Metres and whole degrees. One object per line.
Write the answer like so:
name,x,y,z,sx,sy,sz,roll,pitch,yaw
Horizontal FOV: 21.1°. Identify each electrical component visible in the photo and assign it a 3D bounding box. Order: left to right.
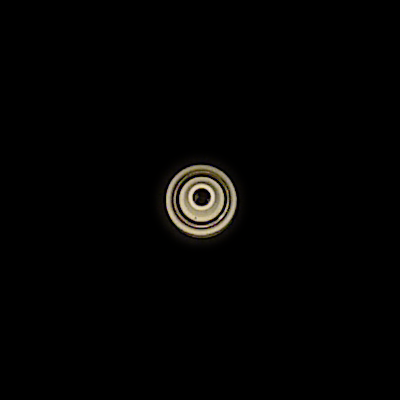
electrical component,0.000,0.000,0.635,0.043,0.043,0.062,0,-4,0
